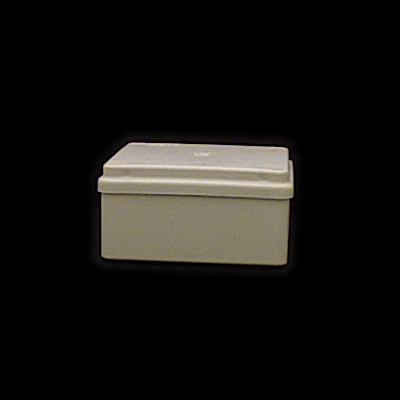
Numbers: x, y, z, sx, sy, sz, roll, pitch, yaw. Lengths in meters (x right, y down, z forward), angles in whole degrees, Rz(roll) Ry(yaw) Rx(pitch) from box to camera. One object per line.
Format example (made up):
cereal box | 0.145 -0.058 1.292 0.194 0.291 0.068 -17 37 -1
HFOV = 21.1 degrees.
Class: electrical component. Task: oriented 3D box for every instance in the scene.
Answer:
electrical component | 0.000 0.000 0.643 0.109 0.056 0.108 2 11 4
